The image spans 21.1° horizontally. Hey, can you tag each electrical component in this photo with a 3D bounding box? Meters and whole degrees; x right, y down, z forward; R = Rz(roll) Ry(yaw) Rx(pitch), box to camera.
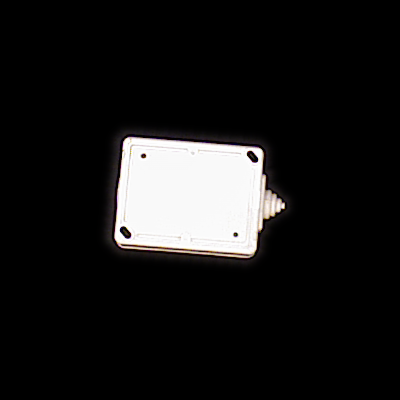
[{"bbox_3d":[0.000,0.000,0.629,0.096,0.062,0.061,5,-6,0],"label":"electrical component"}]
